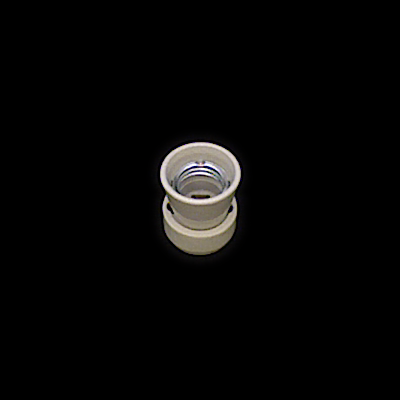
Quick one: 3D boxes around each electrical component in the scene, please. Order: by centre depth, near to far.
[{"bbox_3d":[0.000,0.000,0.629,0.045,0.044,0.055,0,-37,0],"label":"electrical component"}]
